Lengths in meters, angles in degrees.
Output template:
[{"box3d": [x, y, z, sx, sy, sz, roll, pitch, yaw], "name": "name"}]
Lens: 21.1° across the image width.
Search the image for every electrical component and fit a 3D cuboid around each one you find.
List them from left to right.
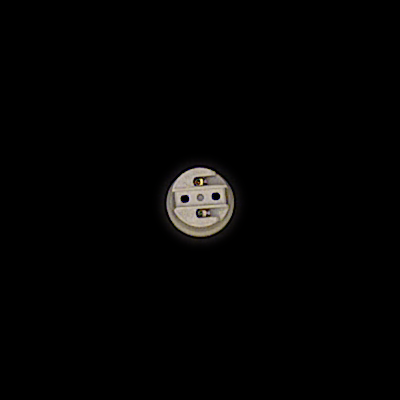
[{"box3d": [0.000, 0.000, 0.634, 0.040, 0.040, 0.046, 0, -6, 0], "name": "electrical component"}]
